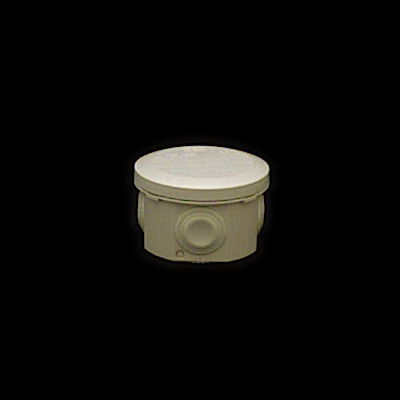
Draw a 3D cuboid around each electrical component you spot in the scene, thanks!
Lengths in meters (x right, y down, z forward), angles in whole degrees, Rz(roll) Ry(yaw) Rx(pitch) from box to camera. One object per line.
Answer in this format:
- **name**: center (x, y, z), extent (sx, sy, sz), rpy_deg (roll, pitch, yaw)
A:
- **electrical component**: center (0.000, 0.000, 0.641), extent (0.080, 0.051, 0.079), rpy_deg (1, 21, 0)
